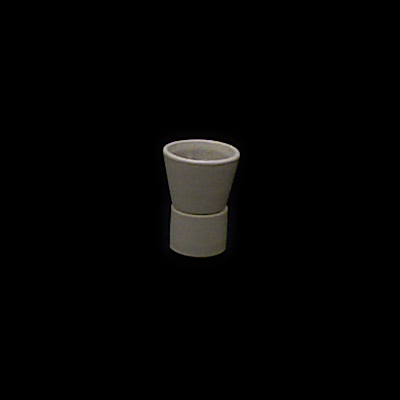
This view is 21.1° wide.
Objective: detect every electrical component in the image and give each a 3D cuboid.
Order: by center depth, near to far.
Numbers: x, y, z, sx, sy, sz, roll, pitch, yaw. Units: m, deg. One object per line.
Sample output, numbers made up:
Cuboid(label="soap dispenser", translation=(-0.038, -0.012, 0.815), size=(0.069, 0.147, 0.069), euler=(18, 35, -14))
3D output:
Cuboid(label="electrical component", translation=(0.000, 0.000, 0.639), size=(0.044, 0.066, 0.044), euler=(2, 21, -1))
